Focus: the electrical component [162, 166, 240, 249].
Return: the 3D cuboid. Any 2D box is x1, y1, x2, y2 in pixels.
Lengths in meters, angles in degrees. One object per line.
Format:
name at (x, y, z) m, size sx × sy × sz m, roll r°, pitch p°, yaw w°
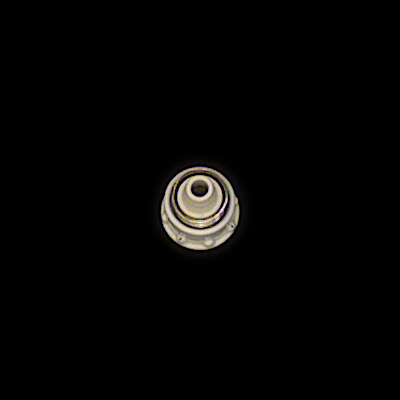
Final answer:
electrical component at (0.000, 0.000, 0.633) m, size 0.048 × 0.048 × 0.061 m, roll 0°, pitch -15°, yaw 0°
